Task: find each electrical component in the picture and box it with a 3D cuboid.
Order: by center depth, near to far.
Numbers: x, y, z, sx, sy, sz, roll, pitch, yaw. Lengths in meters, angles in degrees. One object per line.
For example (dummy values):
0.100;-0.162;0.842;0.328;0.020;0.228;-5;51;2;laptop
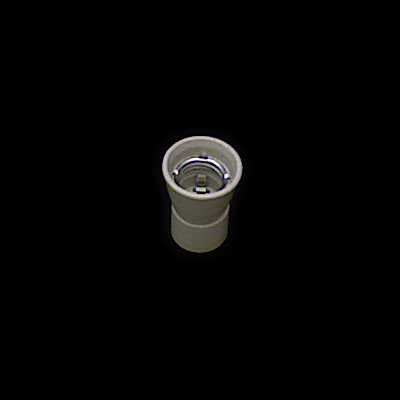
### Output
0.000;0.000;0.627;0.044;0.044;0.065;0;-38;-2;electrical component
